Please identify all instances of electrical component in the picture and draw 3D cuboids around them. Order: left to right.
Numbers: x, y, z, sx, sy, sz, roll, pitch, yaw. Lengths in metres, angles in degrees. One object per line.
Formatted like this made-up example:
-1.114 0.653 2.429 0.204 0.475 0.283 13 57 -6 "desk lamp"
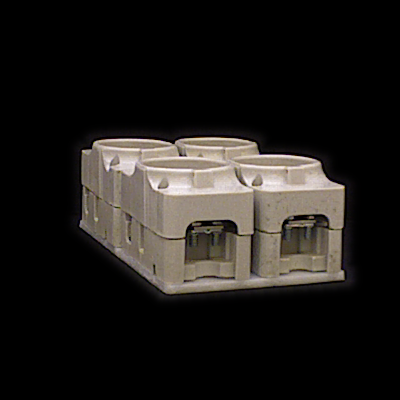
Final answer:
0.000 0.000 0.644 0.105 0.061 0.184 -2 11 -20 "electrical component"
